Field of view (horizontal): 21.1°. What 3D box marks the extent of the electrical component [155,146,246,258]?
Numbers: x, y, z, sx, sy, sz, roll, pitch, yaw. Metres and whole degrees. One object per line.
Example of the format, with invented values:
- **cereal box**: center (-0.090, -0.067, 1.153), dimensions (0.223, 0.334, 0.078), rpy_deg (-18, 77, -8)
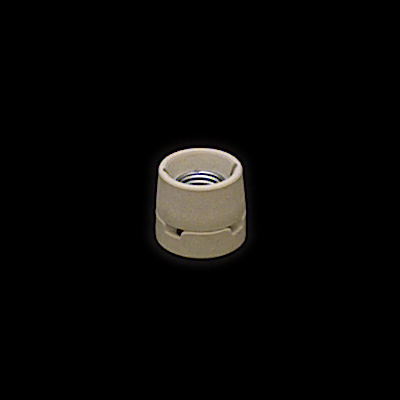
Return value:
- **electrical component**: center (0.000, 0.000, 0.638), dimensions (0.055, 0.047, 0.055), rpy_deg (0, 31, 0)
